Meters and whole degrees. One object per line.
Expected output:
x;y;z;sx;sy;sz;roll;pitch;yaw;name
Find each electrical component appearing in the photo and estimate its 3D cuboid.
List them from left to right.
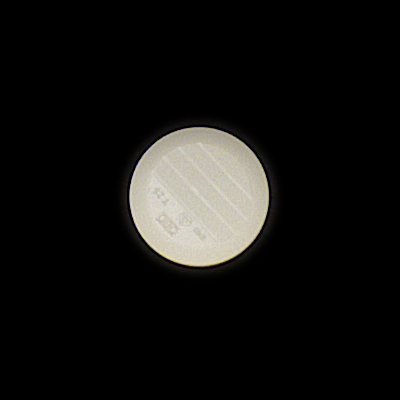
0.000;0.000;0.631;0.080;0.080;0.050;0;-7;0;electrical component
